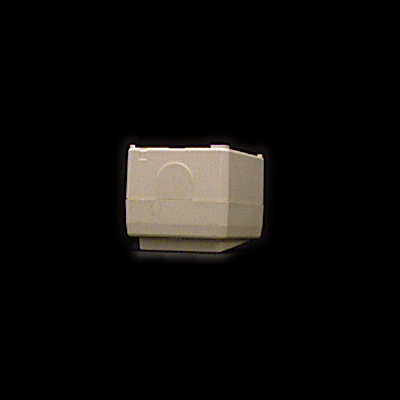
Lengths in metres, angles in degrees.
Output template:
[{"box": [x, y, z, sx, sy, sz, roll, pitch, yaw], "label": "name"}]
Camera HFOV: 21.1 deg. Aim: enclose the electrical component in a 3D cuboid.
[{"box": [0.000, 0.000, 0.651, 0.062, 0.061, 0.096, 1, -1, 19], "label": "electrical component"}]
